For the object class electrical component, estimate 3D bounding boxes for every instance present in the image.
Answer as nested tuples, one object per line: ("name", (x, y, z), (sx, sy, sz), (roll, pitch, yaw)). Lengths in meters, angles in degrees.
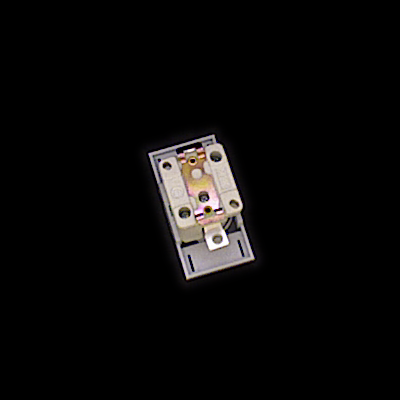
("electrical component", (0.000, 0.000, 0.625), (0.042, 0.081, 0.063), (-17, -16, -5))
